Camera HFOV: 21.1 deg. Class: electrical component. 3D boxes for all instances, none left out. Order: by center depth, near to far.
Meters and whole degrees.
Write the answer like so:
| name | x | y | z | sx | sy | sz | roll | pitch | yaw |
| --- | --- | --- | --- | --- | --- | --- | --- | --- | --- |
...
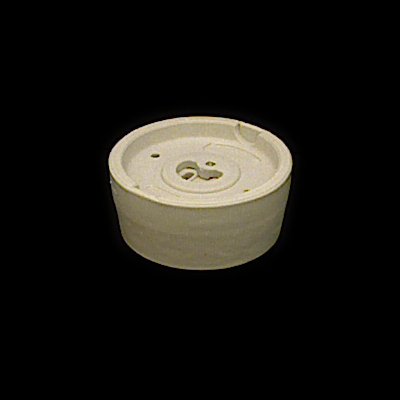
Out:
| name | x | y | z | sx | sy | sz | roll | pitch | yaw |
| --- | --- | --- | --- | --- | --- | --- | --- | --- | --- |
| electrical component | 0.000 | 0.000 | 0.645 | 0.108 | 0.061 | 0.106 | 1 | 32 | 0 |
